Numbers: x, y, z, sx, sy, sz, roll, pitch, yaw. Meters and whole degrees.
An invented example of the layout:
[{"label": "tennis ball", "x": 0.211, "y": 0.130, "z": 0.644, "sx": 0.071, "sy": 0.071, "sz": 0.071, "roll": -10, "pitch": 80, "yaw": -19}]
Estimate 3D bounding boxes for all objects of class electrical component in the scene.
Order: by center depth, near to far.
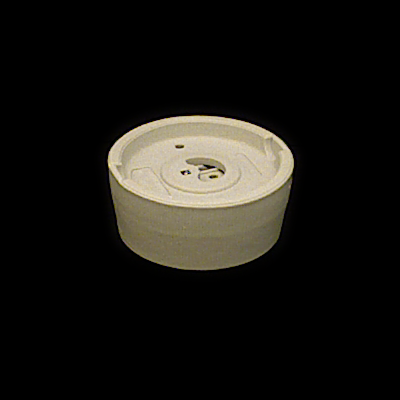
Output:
[{"label": "electrical component", "x": 0.000, "y": 0.000, "z": 0.638, "sx": 0.108, "sy": 0.061, "sz": 0.106, "roll": 1, "pitch": 32, "yaw": 0}]
